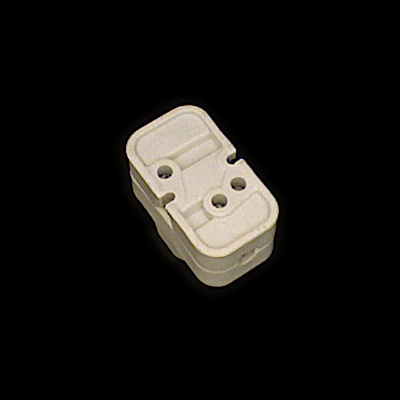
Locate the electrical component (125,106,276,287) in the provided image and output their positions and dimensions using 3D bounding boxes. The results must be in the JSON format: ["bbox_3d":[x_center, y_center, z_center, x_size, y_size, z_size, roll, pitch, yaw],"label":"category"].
[{"bbox_3d":[0.000,0.000,0.636,0.054,0.094,0.059,-32,-23,-14],"label":"electrical component"}]
